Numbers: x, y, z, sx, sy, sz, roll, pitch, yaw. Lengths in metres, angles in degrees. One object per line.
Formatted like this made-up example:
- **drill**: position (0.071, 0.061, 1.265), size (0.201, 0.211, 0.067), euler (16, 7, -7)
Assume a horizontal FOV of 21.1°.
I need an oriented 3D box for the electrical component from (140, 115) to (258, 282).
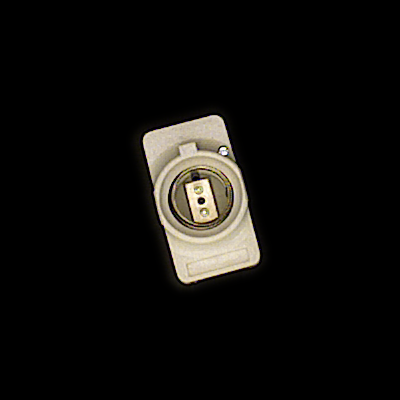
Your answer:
- **electrical component**: position (0.000, 0.000, 0.637), size (0.050, 0.090, 0.055), euler (-15, -6, -1)
